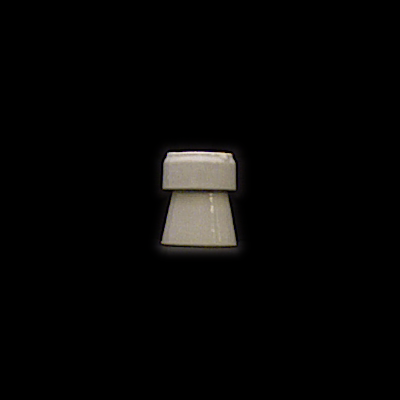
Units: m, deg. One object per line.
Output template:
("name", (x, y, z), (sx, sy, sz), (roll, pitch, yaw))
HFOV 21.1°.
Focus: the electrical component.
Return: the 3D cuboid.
("electrical component", (0.000, 0.000, 0.648), (0.045, 0.055, 0.045), (1, 1, 0))
